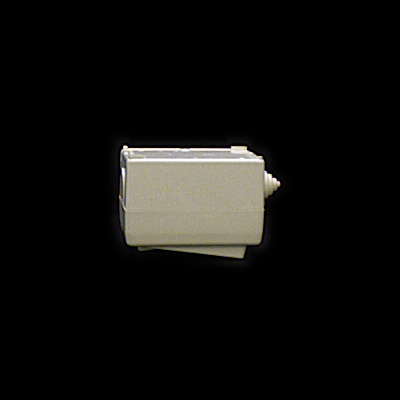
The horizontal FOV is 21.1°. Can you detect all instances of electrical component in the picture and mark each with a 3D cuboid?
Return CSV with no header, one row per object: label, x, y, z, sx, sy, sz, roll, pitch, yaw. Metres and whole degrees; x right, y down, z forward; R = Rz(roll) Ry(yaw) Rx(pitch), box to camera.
electrical component,0.000,0.000,0.647,0.096,0.061,0.061,-1,10,-8
